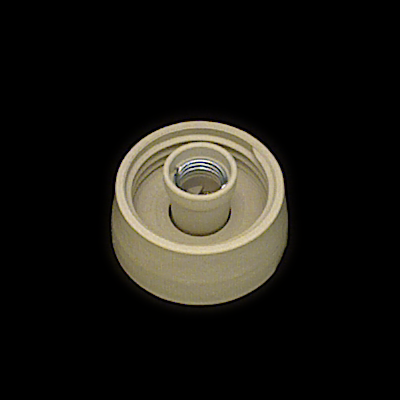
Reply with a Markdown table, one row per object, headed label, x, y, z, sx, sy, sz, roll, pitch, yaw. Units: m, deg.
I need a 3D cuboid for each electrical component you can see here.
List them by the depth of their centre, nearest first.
| label | x | y | z | sx | sy | sz | roll | pitch | yaw |
| --- | --- | --- | --- | --- | --- | --- | --- | --- | --- |
| electrical component | 0.000 | 0.000 | 0.635 | 0.108 | 0.107 | 0.060 | 0 | -37 | -1 |
